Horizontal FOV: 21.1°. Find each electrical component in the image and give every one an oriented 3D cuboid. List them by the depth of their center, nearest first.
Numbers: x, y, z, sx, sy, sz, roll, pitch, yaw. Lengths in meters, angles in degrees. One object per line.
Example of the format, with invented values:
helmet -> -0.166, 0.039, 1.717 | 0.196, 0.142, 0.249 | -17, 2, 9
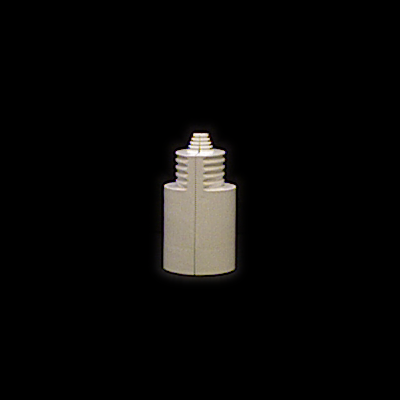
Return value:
electrical component -> 0.000, 0.000, 0.643 | 0.043, 0.081, 0.043 | 1, 11, 0
